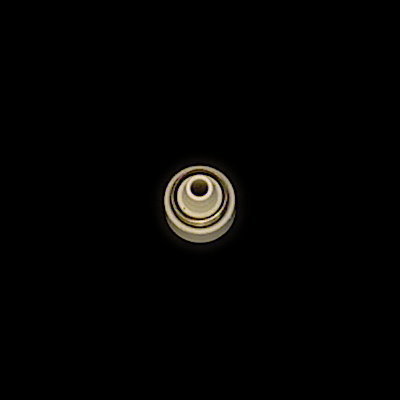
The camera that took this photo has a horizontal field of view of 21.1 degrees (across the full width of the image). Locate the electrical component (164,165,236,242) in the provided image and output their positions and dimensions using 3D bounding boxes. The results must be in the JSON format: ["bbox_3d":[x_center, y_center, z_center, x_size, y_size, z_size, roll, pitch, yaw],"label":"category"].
[{"bbox_3d":[0.000,0.000,0.633,0.043,0.043,0.061,0,-14,0],"label":"electrical component"}]
